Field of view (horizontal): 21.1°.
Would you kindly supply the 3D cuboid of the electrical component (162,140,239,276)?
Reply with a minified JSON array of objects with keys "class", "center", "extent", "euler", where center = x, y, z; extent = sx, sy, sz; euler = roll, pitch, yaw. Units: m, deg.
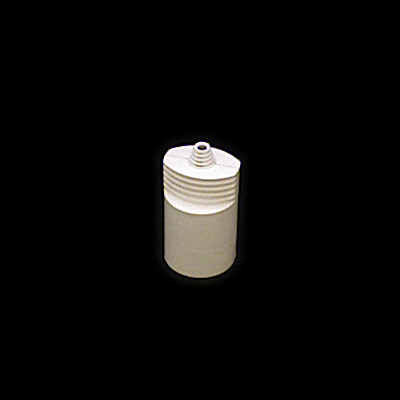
[{"class":"electrical component","center":[0.000,0.000,0.623],"extent":[0.043,0.082,0.042],"euler":[0,42,0]}]
